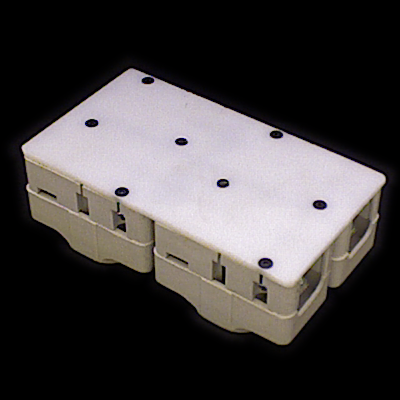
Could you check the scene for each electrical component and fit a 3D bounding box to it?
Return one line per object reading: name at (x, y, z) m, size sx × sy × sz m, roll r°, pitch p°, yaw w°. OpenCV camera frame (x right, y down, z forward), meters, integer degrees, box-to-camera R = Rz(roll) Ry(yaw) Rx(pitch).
electrical component at (0.000, 0.000, 0.630) m, size 0.185 × 0.061 × 0.105 m, roll 26°, pitch 47°, yaw 25°
